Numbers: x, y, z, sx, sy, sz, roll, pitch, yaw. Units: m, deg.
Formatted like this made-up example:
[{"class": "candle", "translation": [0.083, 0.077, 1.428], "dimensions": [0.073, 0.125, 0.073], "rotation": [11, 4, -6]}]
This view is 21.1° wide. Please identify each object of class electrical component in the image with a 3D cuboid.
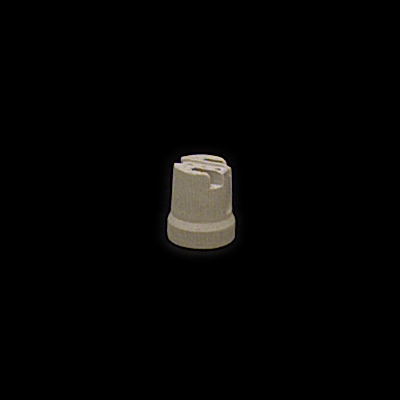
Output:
[{"class": "electrical component", "translation": [0.000, 0.000, 0.640], "dimensions": [0.040, 0.046, 0.040], "rotation": [0, 22, 0]}]
